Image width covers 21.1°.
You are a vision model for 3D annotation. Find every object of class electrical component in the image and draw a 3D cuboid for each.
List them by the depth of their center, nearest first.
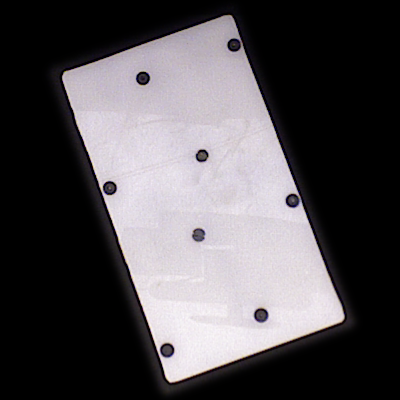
[{"bbox_3d":[0.000,0.000,0.626,0.105,0.186,0.060,-20,-6,-2],"label":"electrical component"}]
